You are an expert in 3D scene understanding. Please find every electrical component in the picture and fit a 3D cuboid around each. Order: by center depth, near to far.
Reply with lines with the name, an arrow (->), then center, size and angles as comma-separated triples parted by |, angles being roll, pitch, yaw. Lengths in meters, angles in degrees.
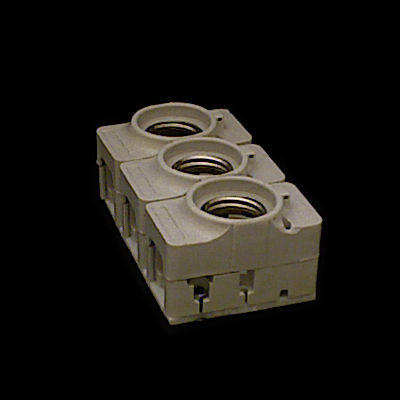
electrical component -> 0.000, 0.000, 0.641 | 0.089, 0.063, 0.147 | -10, 33, -18
